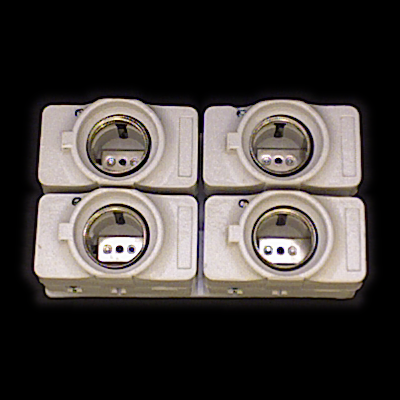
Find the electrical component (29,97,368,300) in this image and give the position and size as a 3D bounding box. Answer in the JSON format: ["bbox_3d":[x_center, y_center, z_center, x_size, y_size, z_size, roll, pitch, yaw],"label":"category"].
[{"bbox_3d":[0.000,0.000,0.625,0.186,0.106,0.060,0,-17,0],"label":"electrical component"}]
